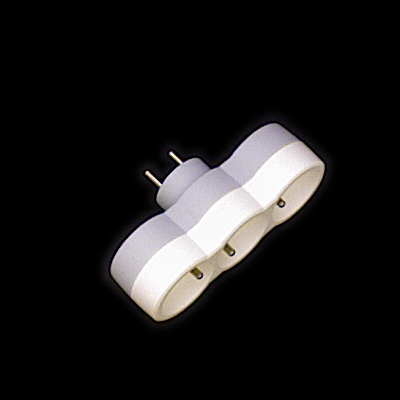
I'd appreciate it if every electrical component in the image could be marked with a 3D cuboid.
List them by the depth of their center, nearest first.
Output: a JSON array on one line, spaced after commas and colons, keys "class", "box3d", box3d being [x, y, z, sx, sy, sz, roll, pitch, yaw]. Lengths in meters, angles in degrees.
[{"class": "electrical component", "box3d": [0.000, 0.000, 0.629, 0.139, 0.074, 0.052, -40, -22, -18]}]
